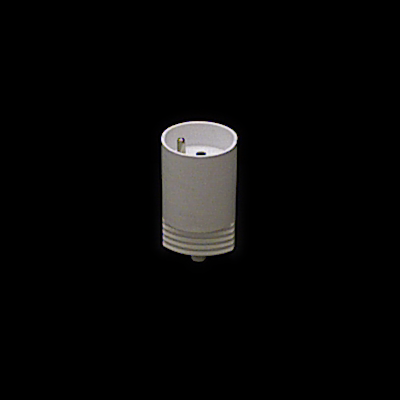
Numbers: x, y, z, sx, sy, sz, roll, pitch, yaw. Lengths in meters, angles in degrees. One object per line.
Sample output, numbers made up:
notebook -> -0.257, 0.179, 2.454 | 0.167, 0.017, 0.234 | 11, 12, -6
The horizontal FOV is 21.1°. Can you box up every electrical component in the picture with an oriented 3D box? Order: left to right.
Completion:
electrical component -> 0.000, 0.000, 0.626 | 0.043, 0.082, 0.042 | 0, 31, 0
